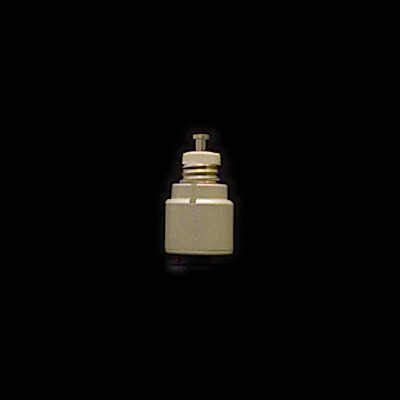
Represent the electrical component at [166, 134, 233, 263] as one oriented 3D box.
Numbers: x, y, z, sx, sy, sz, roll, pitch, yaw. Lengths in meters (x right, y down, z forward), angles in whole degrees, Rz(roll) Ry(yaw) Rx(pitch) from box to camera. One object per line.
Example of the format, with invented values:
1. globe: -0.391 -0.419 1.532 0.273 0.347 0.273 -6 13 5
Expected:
1. electrical component: 0.000 0.000 0.651 0.040 0.078 0.040 2 2 0
